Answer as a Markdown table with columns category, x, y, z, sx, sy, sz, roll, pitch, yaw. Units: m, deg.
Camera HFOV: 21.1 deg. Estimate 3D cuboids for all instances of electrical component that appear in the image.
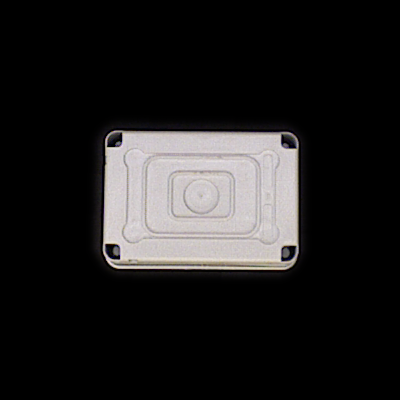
| category | x | y | z | sx | sy | sz | roll | pitch | yaw |
| --- | --- | --- | --- | --- | --- | --- | --- | --- | --- |
| electrical component | 0.000 | 0.000 | 0.629 | 0.113 | 0.078 | 0.057 | 1 | -7 | 0 |
